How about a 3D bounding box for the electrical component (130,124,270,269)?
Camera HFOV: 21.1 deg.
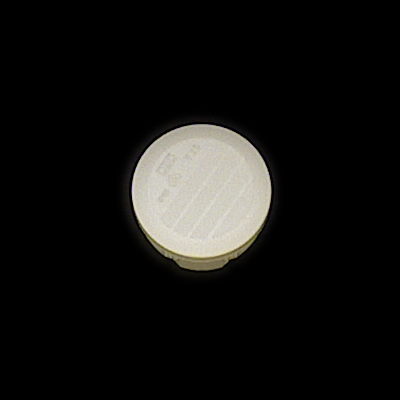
[{"bbox_3d":[0.000,0.000,0.630,0.080,0.080,0.050,0,-17,0],"label":"electrical component"}]
